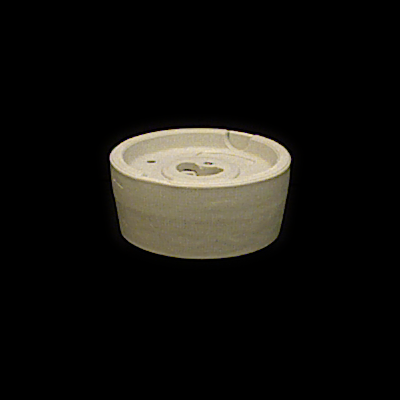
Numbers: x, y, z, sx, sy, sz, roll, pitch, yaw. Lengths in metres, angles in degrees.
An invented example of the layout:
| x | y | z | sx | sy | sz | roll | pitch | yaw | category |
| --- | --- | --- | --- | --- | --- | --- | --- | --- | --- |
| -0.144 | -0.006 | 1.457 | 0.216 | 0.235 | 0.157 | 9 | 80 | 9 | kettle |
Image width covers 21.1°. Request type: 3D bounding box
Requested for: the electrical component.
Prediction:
| x | y | z | sx | sy | sz | roll | pitch | yaw | category |
| --- | --- | --- | --- | --- | --- | --- | --- | --- | --- |
| 0.000 | 0.000 | 0.650 | 0.108 | 0.061 | 0.106 | 1 | 22 | 0 | electrical component |
